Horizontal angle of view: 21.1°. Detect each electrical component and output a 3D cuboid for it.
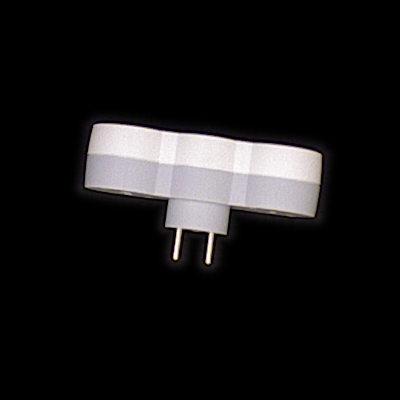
[{"bbox_3d":[0.000,0.000,0.632,0.138,0.074,0.052,7,-5,0],"label":"electrical component"}]
